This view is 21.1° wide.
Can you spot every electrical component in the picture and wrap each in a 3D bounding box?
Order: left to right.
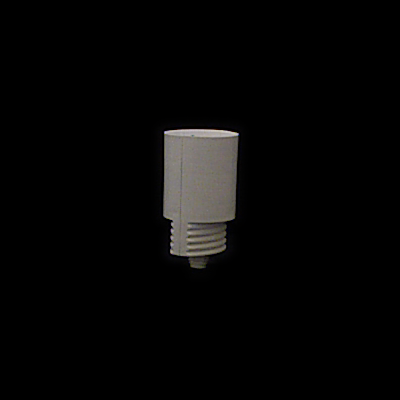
[{"bbox_3d":[0.000,0.000,0.639,0.043,0.082,0.042,0,11,0],"label":"electrical component"}]
